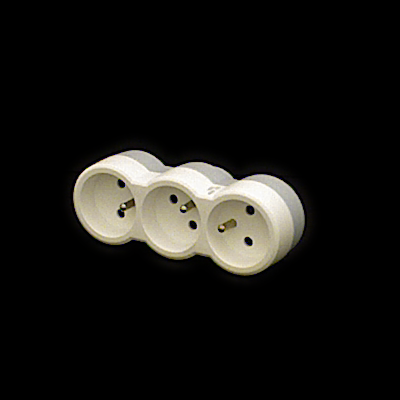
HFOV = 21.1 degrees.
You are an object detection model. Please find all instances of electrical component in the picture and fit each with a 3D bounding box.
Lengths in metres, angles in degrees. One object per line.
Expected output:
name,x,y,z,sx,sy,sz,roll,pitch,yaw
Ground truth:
electrical component,0.000,0.000,0.649,0.137,0.053,0.073,12,23,25
